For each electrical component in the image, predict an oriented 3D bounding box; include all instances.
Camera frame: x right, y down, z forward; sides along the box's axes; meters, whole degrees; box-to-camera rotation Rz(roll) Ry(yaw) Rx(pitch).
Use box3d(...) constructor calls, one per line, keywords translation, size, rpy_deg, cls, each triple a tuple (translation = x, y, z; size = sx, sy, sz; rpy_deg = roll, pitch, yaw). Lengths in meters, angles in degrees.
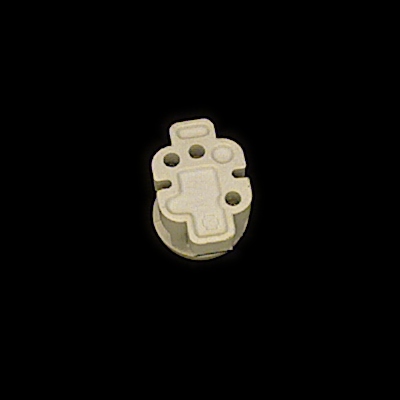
box3d(translation=(0.000, 0.000, 0.635), size=(0.058, 0.078, 0.056), rpy_deg=(-10, -24, -5), cls="electrical component")
